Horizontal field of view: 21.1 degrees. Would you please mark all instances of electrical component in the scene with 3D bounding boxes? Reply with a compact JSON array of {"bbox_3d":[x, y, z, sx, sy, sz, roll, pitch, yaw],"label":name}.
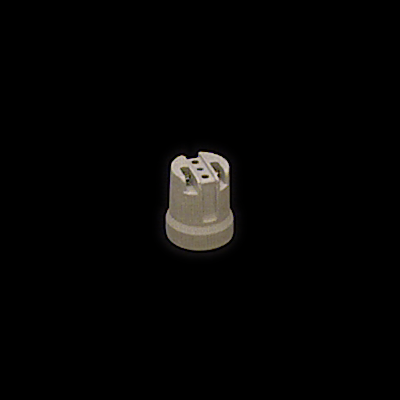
[{"bbox_3d":[0.000,0.000,0.637,0.040,0.046,0.040,0,32,0],"label":"electrical component"}]
